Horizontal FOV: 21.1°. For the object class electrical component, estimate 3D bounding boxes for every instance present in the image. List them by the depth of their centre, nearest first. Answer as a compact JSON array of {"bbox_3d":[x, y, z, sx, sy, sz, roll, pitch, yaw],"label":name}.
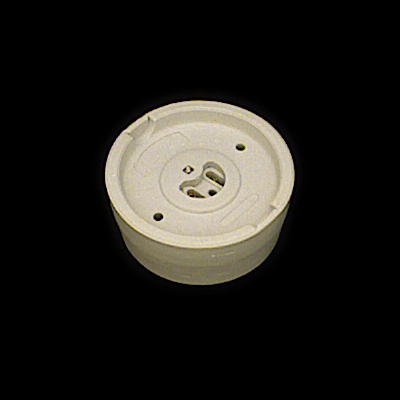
[{"bbox_3d":[0.000,0.000,0.635,0.108,0.107,0.060,0,-37,-1],"label":"electrical component"}]
